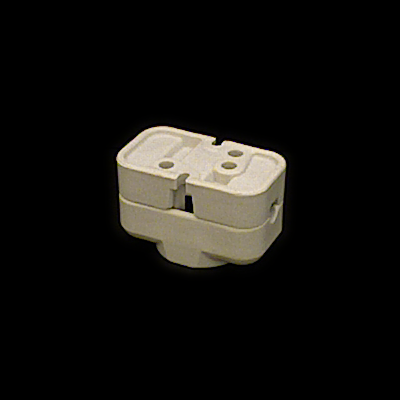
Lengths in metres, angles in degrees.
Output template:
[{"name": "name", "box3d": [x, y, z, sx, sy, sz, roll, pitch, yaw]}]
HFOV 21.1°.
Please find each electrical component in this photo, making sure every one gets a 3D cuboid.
[{"name": "electrical component", "box3d": [0.000, 0.000, 0.644, 0.094, 0.060, 0.053, 14, 35, 21]}]
